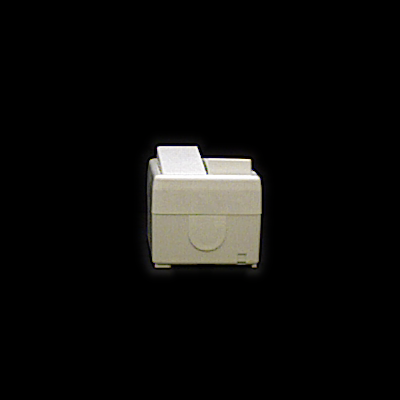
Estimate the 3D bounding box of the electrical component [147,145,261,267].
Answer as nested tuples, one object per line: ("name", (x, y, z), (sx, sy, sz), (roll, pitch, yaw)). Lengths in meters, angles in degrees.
("electrical component", (0.000, 0.000, 0.647), (0.062, 0.061, 0.095), (0, 10, -5))
